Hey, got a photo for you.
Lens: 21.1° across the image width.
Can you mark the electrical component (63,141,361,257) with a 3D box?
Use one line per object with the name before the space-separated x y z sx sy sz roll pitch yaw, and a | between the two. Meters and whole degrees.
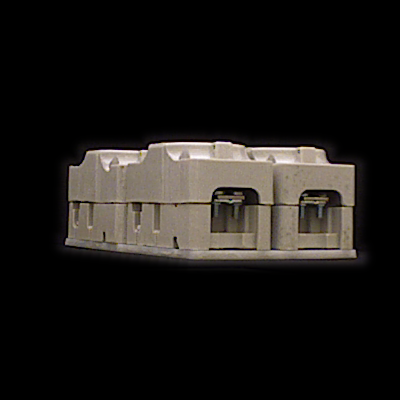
electrical component | 0.000 0.000 0.650 0.106 0.060 0.186 1 0 -28
